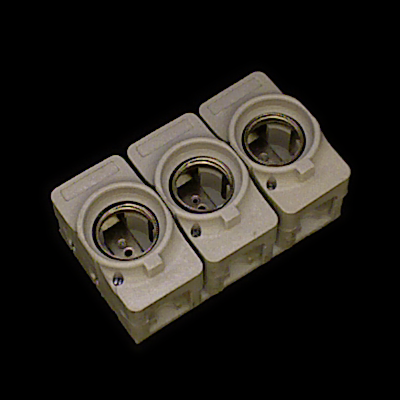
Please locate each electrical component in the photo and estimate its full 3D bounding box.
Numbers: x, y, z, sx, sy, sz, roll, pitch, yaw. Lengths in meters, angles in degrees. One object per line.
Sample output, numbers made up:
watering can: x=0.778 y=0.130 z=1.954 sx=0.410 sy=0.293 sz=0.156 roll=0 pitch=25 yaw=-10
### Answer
electrical component: x=0.000 y=0.000 z=0.631 sx=0.150 sy=0.089 sz=0.062 roll=-32 pitch=-22 yaw=-15
